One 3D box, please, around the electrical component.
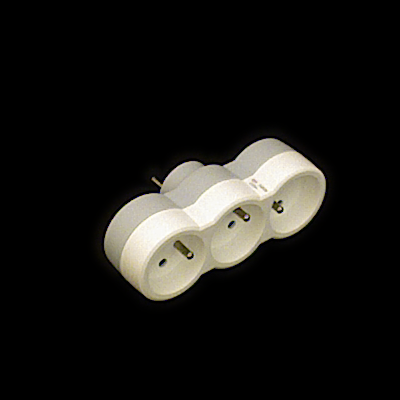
[{"bbox_3d":[0.000,0.000,0.643,0.139,0.053,0.072,-26,47,-27],"label":"electrical component"}]
